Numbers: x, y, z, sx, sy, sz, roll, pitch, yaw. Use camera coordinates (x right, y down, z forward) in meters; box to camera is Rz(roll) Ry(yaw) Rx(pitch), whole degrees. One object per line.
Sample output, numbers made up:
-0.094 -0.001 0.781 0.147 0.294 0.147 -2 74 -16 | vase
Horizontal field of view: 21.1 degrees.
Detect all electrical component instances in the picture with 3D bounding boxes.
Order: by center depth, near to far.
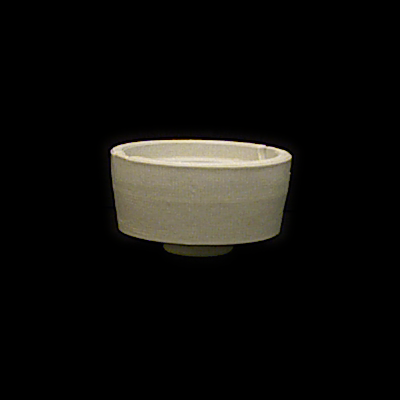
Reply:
0.000 0.000 0.647 0.108 0.061 0.107 2 11 0 | electrical component
